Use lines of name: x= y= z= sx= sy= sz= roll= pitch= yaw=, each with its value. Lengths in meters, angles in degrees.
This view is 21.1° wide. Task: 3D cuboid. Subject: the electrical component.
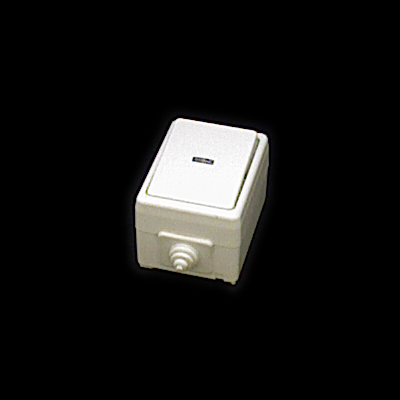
electrical component: x=0.000 y=0.000 z=0.628 sx=0.061 sy=0.061 sz=0.096 roll=10 pitch=43 yaw=11
